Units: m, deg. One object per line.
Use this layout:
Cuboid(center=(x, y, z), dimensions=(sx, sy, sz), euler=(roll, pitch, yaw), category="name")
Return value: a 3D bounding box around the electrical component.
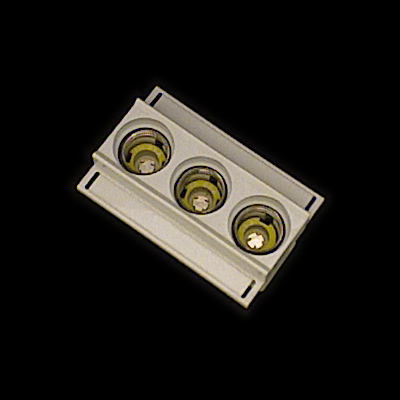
Cuboid(center=(0.000, 0.000, 0.638), dimensions=(0.121, 0.079, 0.063), euler=(35, -14, 10), category="electrical component")
